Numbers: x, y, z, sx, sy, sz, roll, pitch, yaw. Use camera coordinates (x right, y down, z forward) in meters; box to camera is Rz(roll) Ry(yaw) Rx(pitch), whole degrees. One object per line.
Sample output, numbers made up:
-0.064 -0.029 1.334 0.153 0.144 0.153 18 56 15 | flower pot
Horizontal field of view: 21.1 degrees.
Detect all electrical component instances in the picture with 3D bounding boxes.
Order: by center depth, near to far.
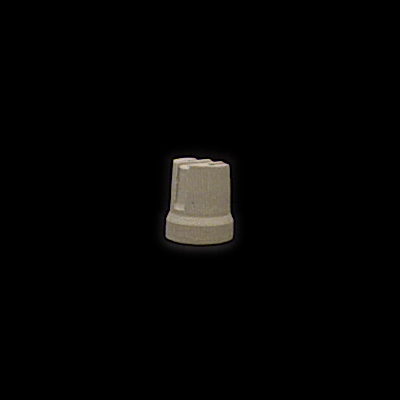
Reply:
0.000 0.000 0.646 0.040 0.046 0.040 1 12 0 | electrical component
